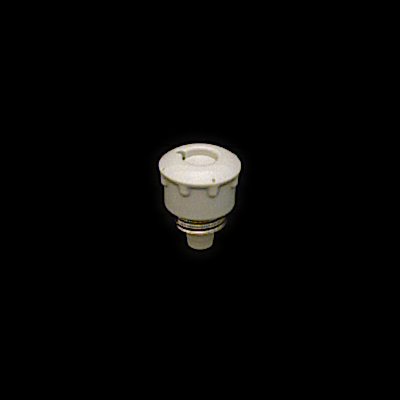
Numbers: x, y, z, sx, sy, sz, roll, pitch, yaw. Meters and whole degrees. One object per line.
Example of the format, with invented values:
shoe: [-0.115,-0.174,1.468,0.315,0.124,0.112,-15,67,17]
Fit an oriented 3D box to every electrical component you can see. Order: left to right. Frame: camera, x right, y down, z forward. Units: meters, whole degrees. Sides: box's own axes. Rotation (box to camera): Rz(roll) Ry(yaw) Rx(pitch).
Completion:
electrical component: [0.000,0.000,0.639,0.048,0.063,0.047,1,32,0]
